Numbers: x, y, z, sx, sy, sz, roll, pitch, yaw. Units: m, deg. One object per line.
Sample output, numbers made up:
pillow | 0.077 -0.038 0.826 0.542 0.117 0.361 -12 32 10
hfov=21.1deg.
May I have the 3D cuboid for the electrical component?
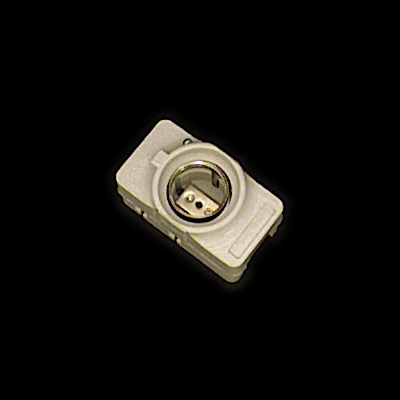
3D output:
electrical component | 0.000 0.000 0.636 0.089 0.050 0.055 36 -13 9
